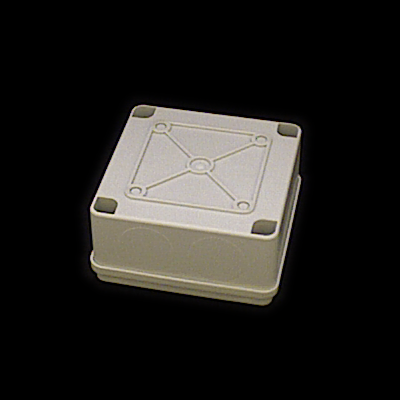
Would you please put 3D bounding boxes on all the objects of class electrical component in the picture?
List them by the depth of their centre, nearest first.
[{"bbox_3d":[0.000,0.000,0.632,0.108,0.057,0.108,8,42,8],"label":"electrical component"}]
